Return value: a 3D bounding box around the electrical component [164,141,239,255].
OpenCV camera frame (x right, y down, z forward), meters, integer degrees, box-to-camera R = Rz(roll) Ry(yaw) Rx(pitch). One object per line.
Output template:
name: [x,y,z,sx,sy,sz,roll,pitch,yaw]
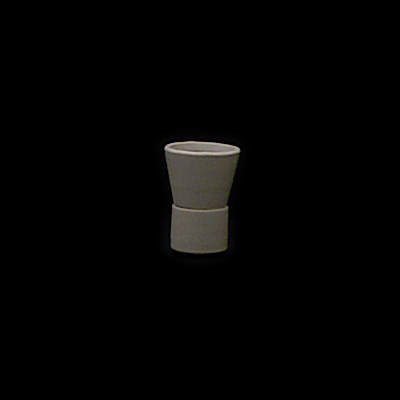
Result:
electrical component: [0.000,0.000,0.643,0.044,0.066,0.044,2,12,0]
